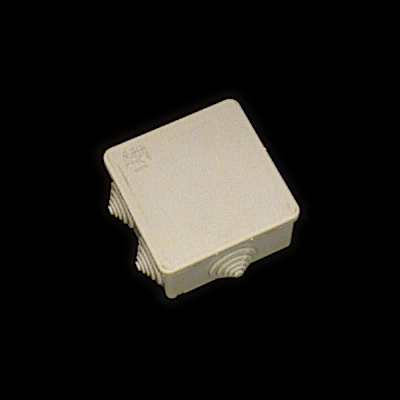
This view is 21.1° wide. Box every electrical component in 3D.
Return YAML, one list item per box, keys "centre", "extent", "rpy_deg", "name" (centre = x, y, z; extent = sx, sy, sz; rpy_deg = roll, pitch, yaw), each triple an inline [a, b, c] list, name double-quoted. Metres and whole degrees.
- centre: [0.000, 0.000, 0.640]
  extent: [0.100, 0.099, 0.048]
  rpy_deg: [-23, -24, -11]
  name: "electrical component"
